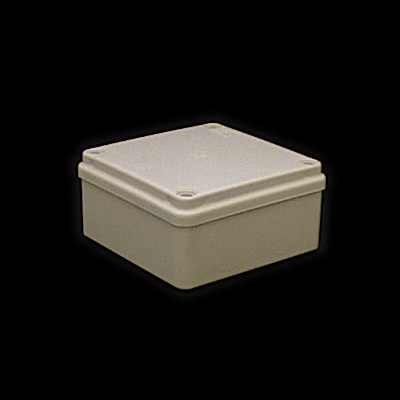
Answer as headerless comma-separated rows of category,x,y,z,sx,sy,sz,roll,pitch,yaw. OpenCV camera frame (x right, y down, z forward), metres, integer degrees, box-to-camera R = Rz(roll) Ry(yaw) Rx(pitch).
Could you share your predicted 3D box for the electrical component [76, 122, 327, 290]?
electrical component,0.000,0.000,0.638,0.108,0.057,0.107,-15,26,-36
